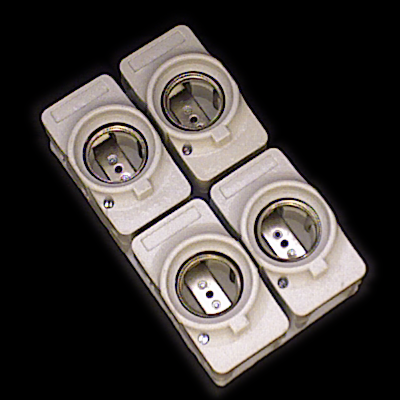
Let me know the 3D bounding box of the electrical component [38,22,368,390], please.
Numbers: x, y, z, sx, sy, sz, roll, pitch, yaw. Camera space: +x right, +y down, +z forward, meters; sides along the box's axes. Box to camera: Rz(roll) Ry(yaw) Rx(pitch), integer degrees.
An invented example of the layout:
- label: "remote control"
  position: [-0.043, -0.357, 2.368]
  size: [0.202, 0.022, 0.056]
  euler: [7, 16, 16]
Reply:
- label: "electrical component"
  position: [0.000, 0.000, 0.625]
  size: [0.106, 0.186, 0.060]
  euler: [-34, -14, -10]
